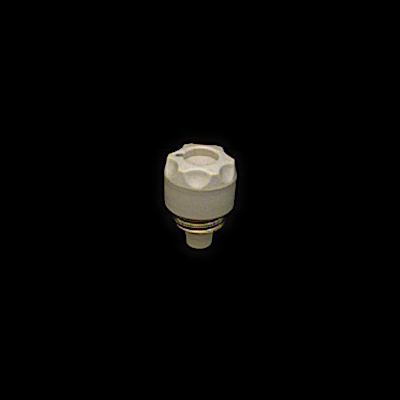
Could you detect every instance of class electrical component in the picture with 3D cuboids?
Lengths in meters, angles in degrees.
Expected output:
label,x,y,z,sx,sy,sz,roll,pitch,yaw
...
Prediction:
label,x,y,z,sx,sy,sz,roll,pitch,yaw
electrical component,0.000,0.000,0.642,0.043,0.063,0.043,2,32,0
